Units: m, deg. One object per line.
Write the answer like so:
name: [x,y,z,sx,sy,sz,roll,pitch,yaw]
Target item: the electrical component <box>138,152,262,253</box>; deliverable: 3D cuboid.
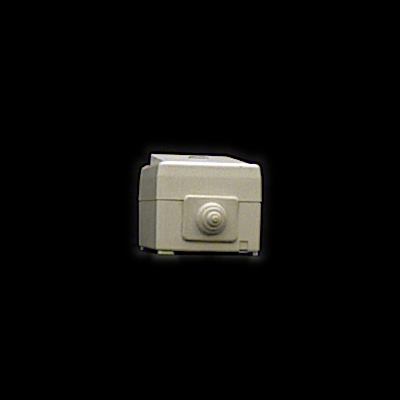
electrical component: [0.000,0.000,0.647,0.062,0.061,0.096,1,0,-11]
